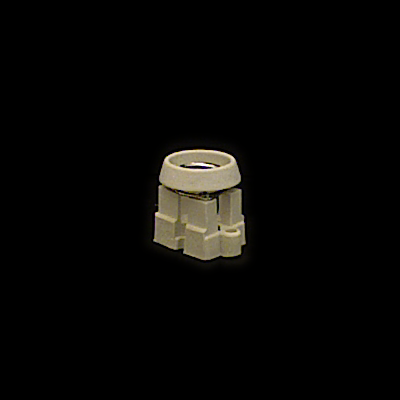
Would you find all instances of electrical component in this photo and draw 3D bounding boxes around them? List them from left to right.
[{"bbox_3d":[0.000,0.000,0.646,0.065,0.056,0.048,18,26,36],"label":"electrical component"}]
